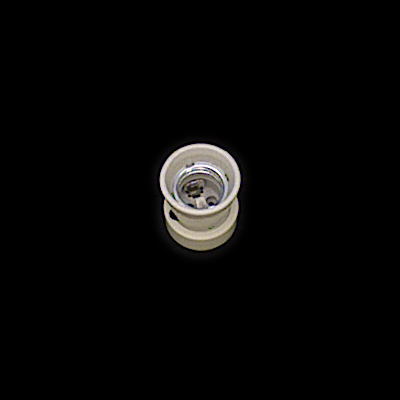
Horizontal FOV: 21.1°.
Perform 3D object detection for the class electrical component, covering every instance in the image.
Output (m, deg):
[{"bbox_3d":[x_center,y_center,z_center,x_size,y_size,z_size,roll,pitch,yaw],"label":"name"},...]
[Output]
[{"bbox_3d":[0.000,0.000,0.628,0.045,0.045,0.055,0,-28,0],"label":"electrical component"}]
